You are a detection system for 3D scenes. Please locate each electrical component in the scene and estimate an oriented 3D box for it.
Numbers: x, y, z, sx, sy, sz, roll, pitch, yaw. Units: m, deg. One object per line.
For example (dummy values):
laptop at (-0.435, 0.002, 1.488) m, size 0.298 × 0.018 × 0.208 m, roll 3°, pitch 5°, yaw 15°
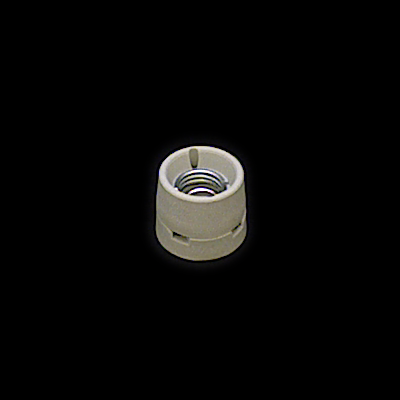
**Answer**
electrical component at (0.000, 0.000, 0.635) m, size 0.055 × 0.047 × 0.055 m, roll 0°, pitch 43°, yaw 0°
